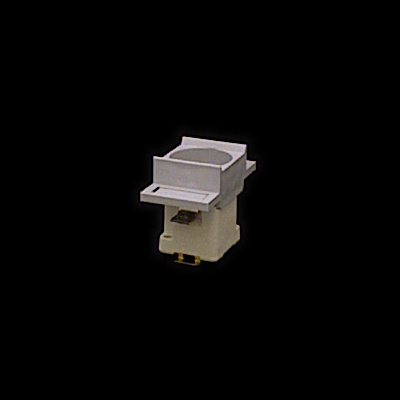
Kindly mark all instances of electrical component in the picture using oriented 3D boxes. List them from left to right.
[{"bbox_3d":[0.000,0.000,0.640,0.042,0.064,0.080,8,22,21],"label":"electrical component"}]
